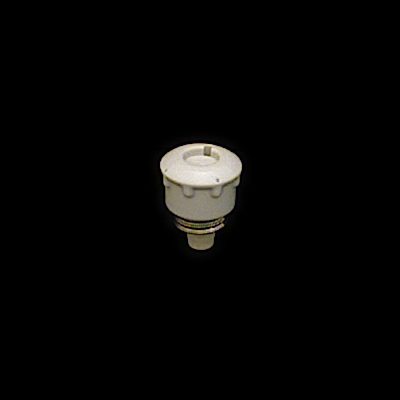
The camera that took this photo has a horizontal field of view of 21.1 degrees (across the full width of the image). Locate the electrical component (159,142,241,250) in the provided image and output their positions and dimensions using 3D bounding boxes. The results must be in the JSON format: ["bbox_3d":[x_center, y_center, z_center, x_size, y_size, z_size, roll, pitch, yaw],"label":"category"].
[{"bbox_3d":[0.000,0.000,0.642,0.048,0.063,0.047,1,32,0],"label":"electrical component"}]
